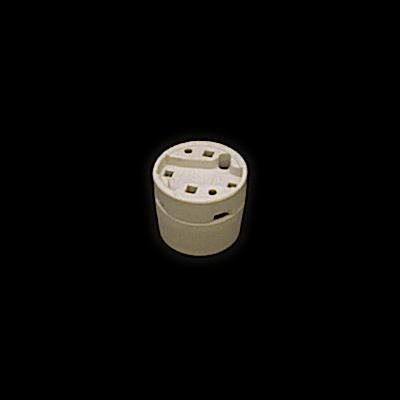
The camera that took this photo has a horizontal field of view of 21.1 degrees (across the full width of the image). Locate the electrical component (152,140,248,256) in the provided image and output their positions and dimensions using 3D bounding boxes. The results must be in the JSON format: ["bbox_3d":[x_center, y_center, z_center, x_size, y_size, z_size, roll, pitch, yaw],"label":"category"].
[{"bbox_3d":[0.000,0.000,0.635,0.055,0.047,0.055,1,42,-1],"label":"electrical component"}]
